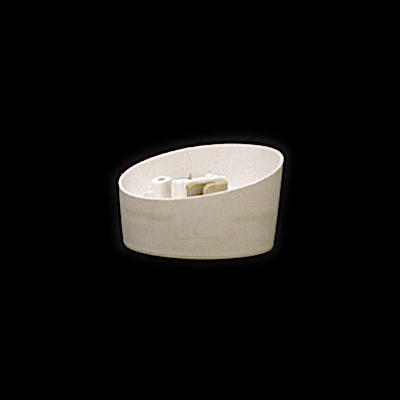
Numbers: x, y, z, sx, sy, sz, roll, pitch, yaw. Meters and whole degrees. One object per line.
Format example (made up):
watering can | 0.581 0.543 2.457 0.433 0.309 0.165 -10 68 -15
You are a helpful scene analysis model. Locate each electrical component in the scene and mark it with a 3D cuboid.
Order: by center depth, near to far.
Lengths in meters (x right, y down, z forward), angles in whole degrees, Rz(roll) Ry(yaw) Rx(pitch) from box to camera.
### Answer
electrical component | 0.000 0.000 0.645 0.099 0.064 0.098 1 9 0
